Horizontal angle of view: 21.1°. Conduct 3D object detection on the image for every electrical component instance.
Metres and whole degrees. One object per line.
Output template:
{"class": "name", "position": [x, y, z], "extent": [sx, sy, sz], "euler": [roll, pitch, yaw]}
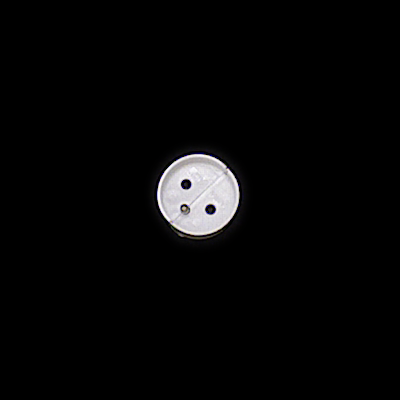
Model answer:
{"class": "electrical component", "position": [0.000, 0.000, 0.615], "extent": [0.043, 0.043, 0.080], "euler": [0, -6, 1]}
